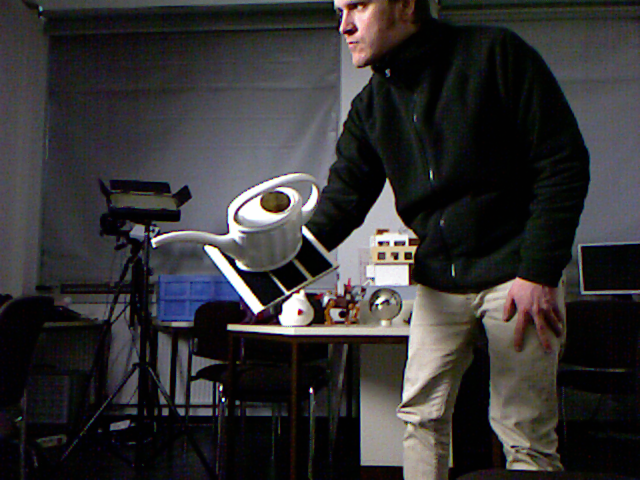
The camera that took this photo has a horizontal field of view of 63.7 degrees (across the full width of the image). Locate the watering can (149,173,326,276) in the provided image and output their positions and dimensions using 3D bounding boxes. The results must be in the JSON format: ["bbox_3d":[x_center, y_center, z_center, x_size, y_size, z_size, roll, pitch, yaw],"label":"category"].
[{"bbox_3d":[-0.141,-0.014,0.991,0.350,0.106,0.219,-25,-34,-20],"label":"watering can"}]
